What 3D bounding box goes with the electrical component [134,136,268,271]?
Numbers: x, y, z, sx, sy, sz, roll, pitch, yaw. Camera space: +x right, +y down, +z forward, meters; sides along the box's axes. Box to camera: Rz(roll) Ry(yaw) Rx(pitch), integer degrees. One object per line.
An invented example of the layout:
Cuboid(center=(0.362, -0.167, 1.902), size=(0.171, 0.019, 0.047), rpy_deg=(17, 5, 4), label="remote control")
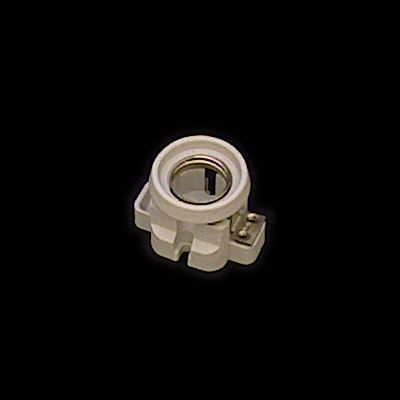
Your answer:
Cuboid(center=(0.000, 0.000, 0.630), size=(0.078, 0.057, 0.057), rpy_deg=(19, -35, 13), label="electrical component")
